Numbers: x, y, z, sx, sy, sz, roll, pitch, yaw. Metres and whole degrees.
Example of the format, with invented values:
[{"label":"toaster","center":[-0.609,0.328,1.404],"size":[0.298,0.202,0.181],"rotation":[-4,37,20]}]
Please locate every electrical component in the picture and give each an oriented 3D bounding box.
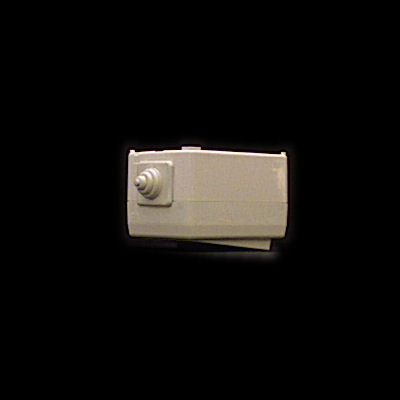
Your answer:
[{"label":"electrical component","center":[0.000,0.000,0.651],"size":[0.096,0.061,0.061],"rotation":[0,1,-41]}]
